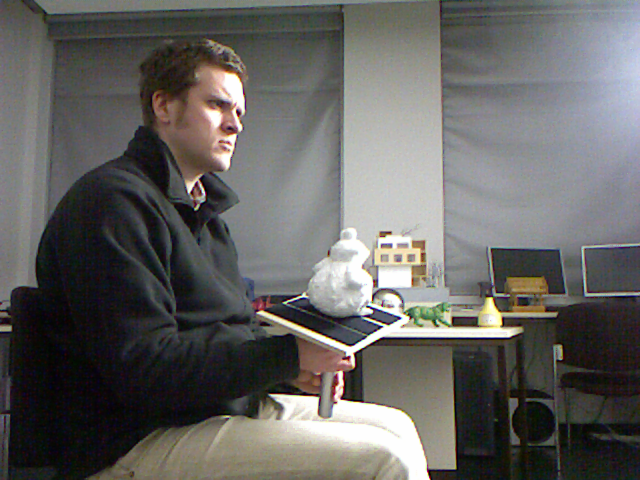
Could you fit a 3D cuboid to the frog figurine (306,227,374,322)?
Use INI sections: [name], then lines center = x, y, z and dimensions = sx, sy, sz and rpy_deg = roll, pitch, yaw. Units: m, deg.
[frog figurine]
center = 0.040, 0.061, 0.931
dimensions = 0.123, 0.157, 0.139
rpy_deg = -7, 21, -31
